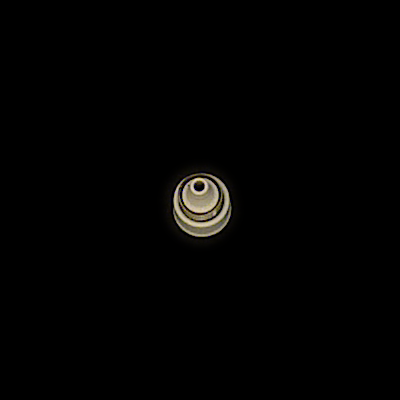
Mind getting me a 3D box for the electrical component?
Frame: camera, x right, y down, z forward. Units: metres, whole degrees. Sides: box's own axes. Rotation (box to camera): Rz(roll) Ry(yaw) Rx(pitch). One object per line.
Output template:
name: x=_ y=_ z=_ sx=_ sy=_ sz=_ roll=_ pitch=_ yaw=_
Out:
electrical component: x=0.000 y=0.000 z=0.636 sx=0.035 sy=0.035 sz=0.061 roll=0 pitch=-16 yaw=3
